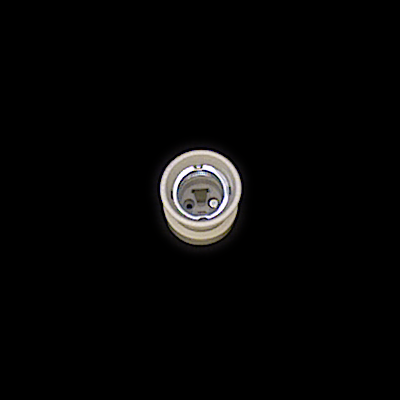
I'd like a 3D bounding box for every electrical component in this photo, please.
[{"bbox_3d":[0.000,0.000,0.627,0.045,0.045,0.055,0,-16,1],"label":"electrical component"}]
